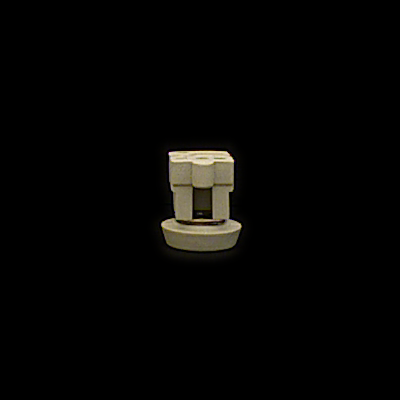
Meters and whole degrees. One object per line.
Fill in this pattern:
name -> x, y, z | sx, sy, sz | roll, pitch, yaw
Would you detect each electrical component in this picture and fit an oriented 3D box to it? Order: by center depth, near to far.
electrical component -> 0.000, 0.000, 0.651 | 0.048, 0.056, 0.066 | -1, 11, -4
